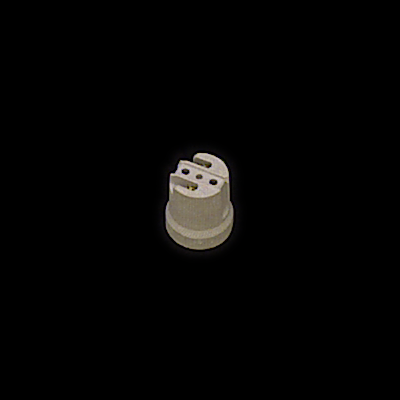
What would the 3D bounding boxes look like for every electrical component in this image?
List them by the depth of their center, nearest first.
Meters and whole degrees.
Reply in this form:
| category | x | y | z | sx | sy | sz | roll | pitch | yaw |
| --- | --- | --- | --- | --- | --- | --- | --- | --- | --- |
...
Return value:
| category | x | y | z | sx | sy | sz | roll | pitch | yaw |
| --- | --- | --- | --- | --- | --- | --- | --- | --- | --- |
| electrical component | 0.000 | 0.000 | 0.634 | 0.040 | 0.040 | 0.046 | 0 | -38 | -1 |
